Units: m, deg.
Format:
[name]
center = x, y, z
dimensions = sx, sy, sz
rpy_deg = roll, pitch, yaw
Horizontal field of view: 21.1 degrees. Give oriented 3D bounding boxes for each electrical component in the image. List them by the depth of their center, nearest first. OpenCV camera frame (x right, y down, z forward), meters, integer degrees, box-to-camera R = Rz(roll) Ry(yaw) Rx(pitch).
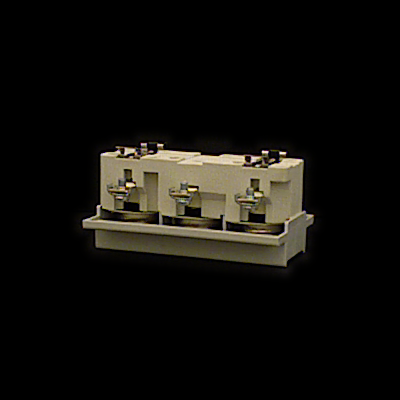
[electrical component]
center = 0.000, 0.000, 0.654
dimensions = 0.121, 0.063, 0.078
rpy_deg = 5, 11, 19
